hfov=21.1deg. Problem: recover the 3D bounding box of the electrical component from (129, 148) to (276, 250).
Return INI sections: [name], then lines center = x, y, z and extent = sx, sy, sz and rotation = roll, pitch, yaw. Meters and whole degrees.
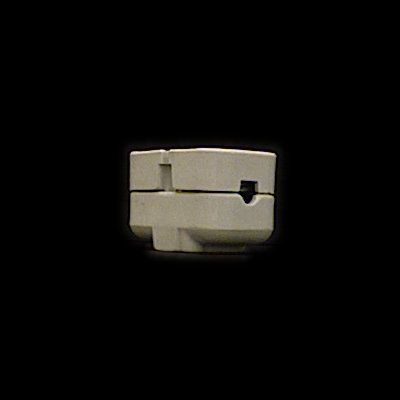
[electrical component]
center = 0.000, 0.000, 0.654
extent = 0.054, 0.059, 0.094
rotation = 0, 2, -38
